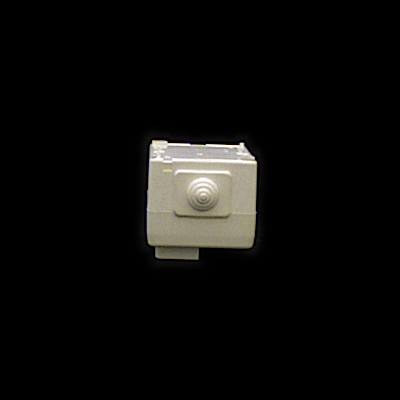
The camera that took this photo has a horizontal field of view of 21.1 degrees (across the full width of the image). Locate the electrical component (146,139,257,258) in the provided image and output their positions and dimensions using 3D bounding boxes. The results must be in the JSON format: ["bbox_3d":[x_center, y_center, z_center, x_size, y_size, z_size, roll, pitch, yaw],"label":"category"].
[{"bbox_3d":[-0.001,0.000,0.637,0.062,0.061,0.095,1,10,-3],"label":"electrical component"}]
